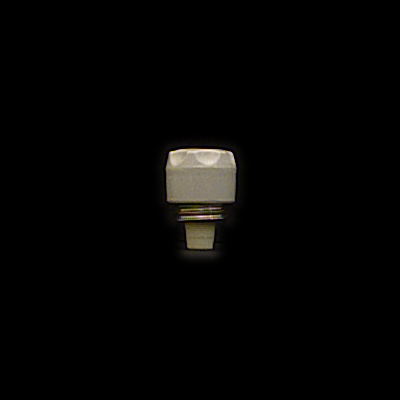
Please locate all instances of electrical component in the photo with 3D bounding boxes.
[{"bbox_3d":[0.000,0.000,0.656,0.043,0.062,0.043,1,2,1],"label":"electrical component"}]
